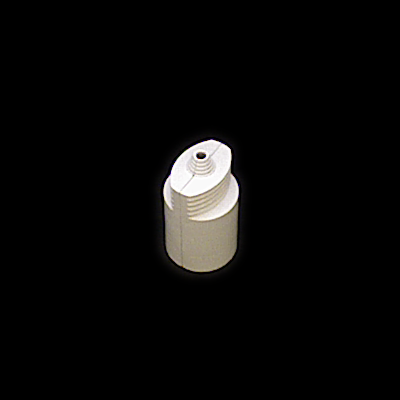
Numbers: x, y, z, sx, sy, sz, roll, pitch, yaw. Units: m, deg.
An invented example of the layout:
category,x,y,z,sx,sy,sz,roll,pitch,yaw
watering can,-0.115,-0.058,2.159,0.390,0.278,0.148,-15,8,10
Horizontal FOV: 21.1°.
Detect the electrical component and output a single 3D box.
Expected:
category,x,y,z,sx,sy,sz,roll,pitch,yaw
electrical component,0.000,0.000,0.620,0.043,0.043,0.081,0,-38,0
